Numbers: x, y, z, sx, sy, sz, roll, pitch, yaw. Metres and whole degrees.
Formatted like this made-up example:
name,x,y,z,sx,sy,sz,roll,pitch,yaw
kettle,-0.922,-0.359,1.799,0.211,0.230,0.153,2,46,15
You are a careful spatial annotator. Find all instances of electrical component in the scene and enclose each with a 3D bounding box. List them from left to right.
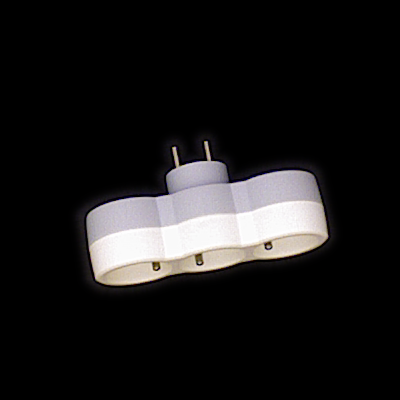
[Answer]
name,x,y,z,sx,sy,sz,roll,pitch,yaw
electrical component,0.000,0.000,0.630,0.138,0.074,0.052,-10,-19,-2
